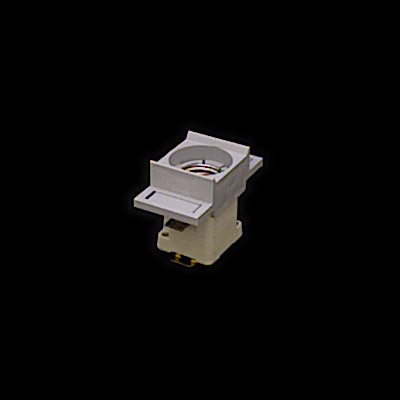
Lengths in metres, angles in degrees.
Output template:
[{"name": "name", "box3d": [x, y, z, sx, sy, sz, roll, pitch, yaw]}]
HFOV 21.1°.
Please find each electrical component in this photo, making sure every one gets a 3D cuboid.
[{"name": "electrical component", "box3d": [0.000, 0.000, 0.635, 0.042, 0.064, 0.080, 17, 35, 26]}]
